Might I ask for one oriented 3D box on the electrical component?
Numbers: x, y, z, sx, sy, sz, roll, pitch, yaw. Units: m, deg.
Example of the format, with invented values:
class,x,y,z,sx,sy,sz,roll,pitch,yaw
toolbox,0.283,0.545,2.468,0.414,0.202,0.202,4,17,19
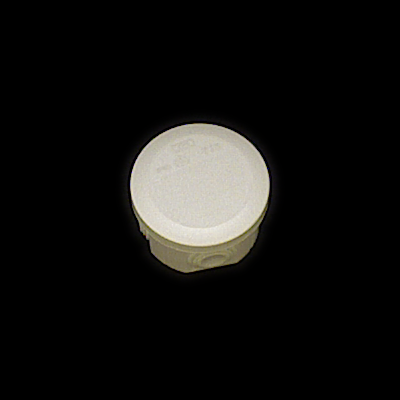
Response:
class,x,y,z,sx,sy,sz,roll,pitch,yaw
electrical component,0.000,0.000,0.631,0.080,0.080,0.050,0,-27,-1
